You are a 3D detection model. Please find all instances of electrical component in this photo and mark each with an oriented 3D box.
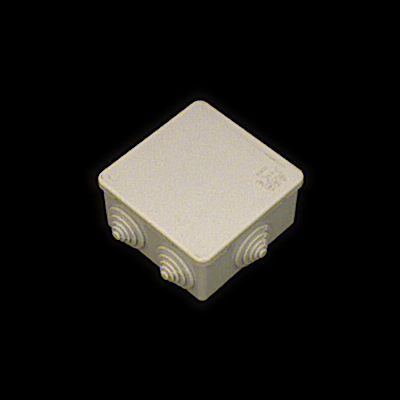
[{"bbox_3d":[0.000,0.000,0.641,0.099,0.049,0.100,38,61,24],"label":"electrical component"}]
